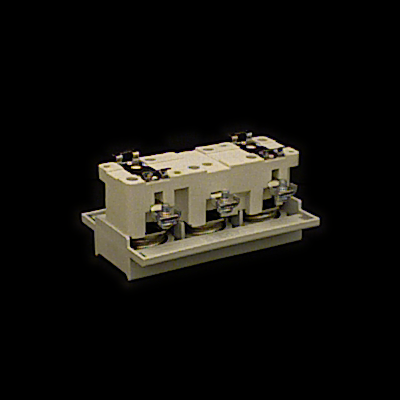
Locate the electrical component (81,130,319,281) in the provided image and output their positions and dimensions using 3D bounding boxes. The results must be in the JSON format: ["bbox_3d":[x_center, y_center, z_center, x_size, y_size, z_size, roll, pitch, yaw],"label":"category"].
[{"bbox_3d":[0.000,0.000,0.648,0.122,0.064,0.077,-12,24,-30],"label":"electrical component"}]
